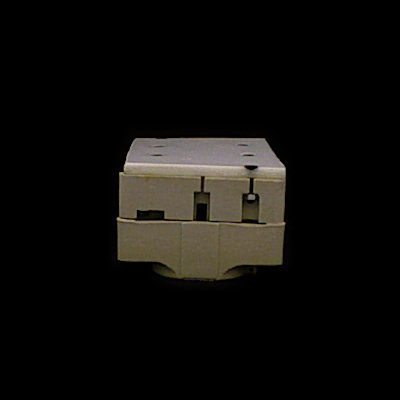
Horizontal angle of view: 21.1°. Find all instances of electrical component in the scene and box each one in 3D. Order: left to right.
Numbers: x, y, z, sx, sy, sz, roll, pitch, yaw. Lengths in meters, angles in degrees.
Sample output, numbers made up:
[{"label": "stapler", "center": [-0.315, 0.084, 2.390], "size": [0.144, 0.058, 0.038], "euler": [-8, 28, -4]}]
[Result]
[{"label": "electrical component", "center": [0.000, 0.000, 0.648], "size": [0.089, 0.062, 0.148], "euler": [1, 10, 0]}]
